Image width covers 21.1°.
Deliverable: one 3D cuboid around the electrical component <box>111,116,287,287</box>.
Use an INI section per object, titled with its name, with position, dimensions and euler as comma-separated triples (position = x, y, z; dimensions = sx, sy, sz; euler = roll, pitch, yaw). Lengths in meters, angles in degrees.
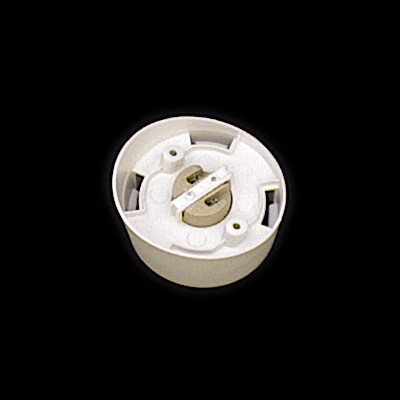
[electrical component]
position = 0.000, 0.000, 0.623
dimensions = 0.099, 0.099, 0.064
euler = 0, -27, 0
